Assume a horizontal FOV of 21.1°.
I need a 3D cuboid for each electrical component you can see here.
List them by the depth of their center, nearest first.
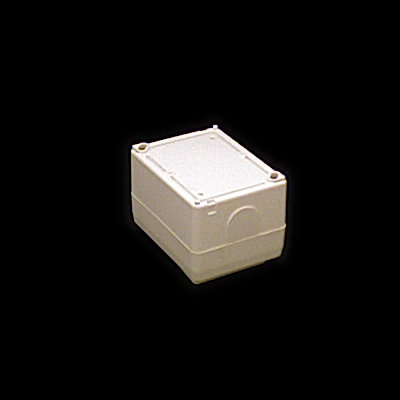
[{"bbox_3d":[0.000,0.000,0.637,0.061,0.061,0.095,-16,35,-26],"label":"electrical component"}]
